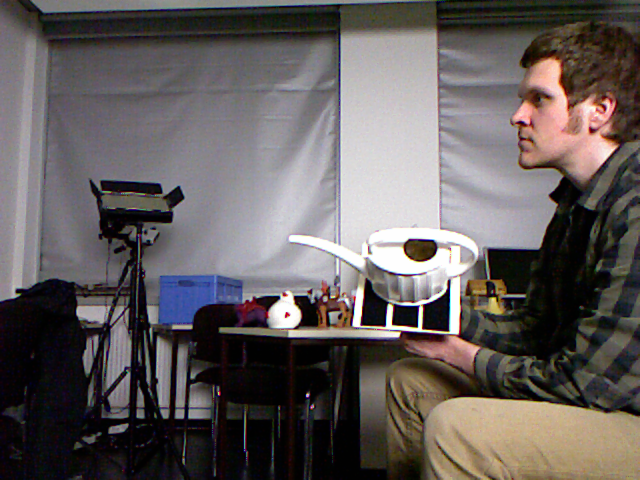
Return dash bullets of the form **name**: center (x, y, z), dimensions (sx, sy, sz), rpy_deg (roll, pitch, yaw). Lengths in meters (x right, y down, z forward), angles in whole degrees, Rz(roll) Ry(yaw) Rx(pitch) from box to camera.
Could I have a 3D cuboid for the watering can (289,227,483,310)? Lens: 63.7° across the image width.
- **watering can**: center (0.126, 0.045, 0.987), dimensions (0.349, 0.107, 0.220), rpy_deg (1, -35, 7)
